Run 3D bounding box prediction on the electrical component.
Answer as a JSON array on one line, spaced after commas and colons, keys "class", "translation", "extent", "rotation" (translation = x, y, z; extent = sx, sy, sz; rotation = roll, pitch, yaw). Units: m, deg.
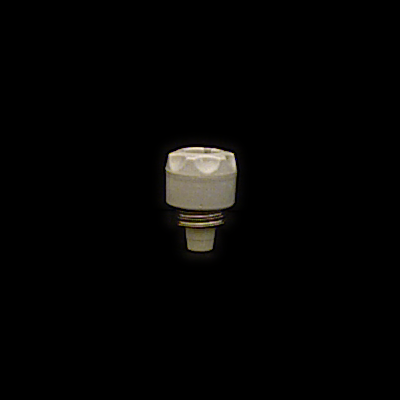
[{"class": "electrical component", "translation": [0.000, 0.000, 0.650], "extent": [0.043, 0.062, 0.043], "rotation": [1, 13, 0]}]
